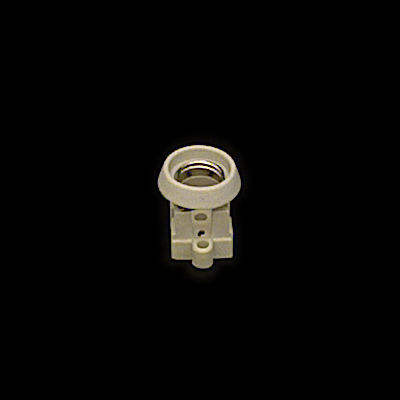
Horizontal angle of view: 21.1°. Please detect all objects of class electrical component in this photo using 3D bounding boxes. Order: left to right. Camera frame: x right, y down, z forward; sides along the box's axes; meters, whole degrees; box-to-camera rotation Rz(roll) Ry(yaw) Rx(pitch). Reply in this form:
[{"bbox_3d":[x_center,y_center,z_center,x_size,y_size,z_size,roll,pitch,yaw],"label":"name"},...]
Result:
[{"bbox_3d":[0.000,0.000,0.640,0.048,0.056,0.066,-1,43,-5],"label":"electrical component"}]
